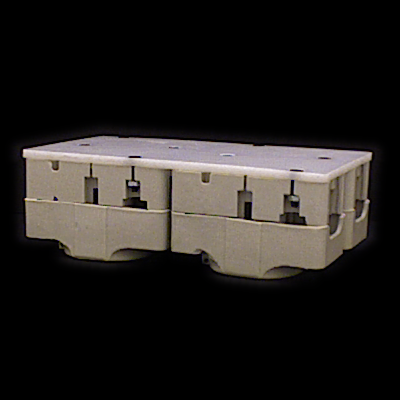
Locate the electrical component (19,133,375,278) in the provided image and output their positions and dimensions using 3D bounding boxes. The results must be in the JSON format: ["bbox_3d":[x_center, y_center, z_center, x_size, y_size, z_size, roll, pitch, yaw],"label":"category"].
[{"bbox_3d":[0.000,0.000,0.644,0.186,0.061,0.105,5,11,21],"label":"electrical component"}]
